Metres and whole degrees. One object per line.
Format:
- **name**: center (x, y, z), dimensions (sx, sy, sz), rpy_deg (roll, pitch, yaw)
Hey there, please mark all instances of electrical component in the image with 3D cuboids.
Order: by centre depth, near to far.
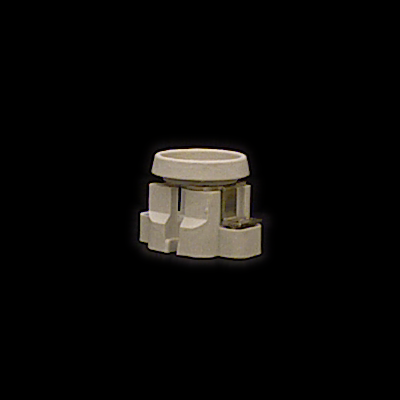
- **electrical component**: center (0.000, 0.000, 0.644), dimensions (0.078, 0.057, 0.057), rpy_deg (9, 13, 36)
